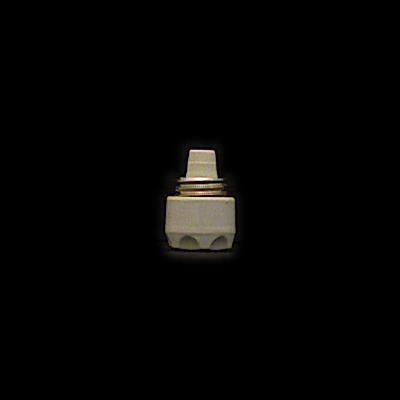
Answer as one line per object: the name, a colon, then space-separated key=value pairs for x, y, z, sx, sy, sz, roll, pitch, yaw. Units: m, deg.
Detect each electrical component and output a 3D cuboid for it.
electrical component: x=0.000 y=0.000 z=0.655 sx=0.043 sy=0.062 sz=0.043 roll=1 pitch=3 yaw=0
